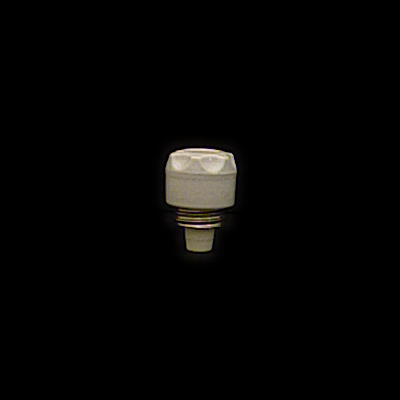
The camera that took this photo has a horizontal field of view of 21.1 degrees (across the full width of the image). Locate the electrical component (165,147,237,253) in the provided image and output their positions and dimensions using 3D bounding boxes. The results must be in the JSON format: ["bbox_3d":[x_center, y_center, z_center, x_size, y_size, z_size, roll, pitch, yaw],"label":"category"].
[{"bbox_3d":[0.000,0.000,0.652,0.043,0.062,0.043,2,11,0],"label":"electrical component"}]
